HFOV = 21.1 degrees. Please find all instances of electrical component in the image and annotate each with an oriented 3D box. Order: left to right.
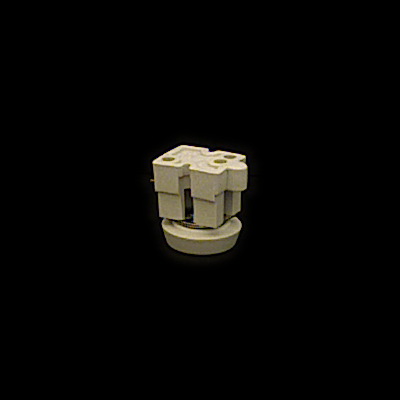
[{"bbox_3d":[0.000,0.000,0.648,0.066,0.056,0.048,12,26,27],"label":"electrical component"}]
